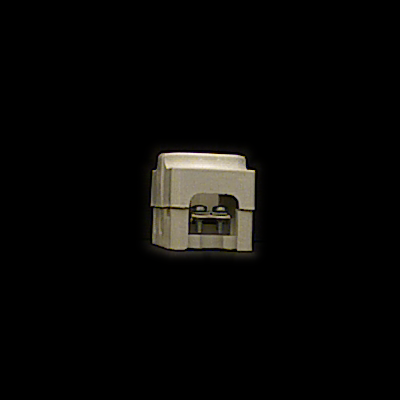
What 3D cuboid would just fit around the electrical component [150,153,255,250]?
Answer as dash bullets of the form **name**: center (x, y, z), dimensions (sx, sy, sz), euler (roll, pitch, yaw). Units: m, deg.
- **electrical component**: center (0.000, 0.000, 0.657), dimensions (0.050, 0.056, 0.089), euler (1, 1, -11)
